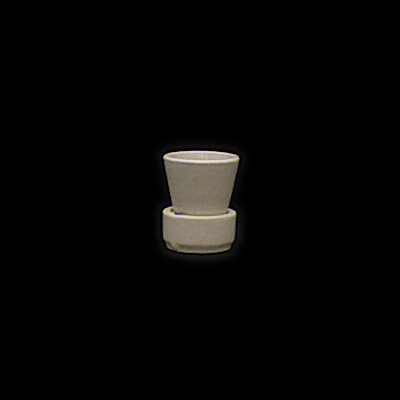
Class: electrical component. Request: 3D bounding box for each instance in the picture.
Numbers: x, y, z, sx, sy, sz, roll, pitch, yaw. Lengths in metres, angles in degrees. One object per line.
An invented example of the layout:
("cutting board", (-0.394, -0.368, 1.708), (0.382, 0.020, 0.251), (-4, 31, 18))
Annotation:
("electrical component", (0.000, 0.000, 0.645), (0.045, 0.055, 0.044), (1, 12, 0))
